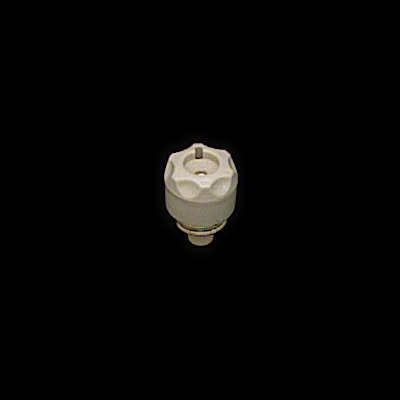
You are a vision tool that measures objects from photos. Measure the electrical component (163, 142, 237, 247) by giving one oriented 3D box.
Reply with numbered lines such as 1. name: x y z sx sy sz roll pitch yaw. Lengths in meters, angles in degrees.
1. electrical component: 0.000 0.000 0.637 0.043 0.062 0.043 1 43 0
